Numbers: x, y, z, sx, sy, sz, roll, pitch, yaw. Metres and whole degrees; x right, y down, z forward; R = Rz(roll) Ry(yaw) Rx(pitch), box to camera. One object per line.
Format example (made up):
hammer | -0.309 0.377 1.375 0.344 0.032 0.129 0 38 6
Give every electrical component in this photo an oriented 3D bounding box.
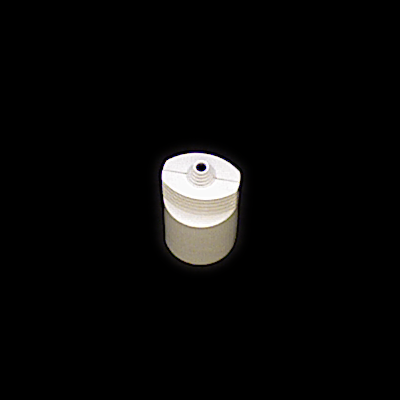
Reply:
electrical component | 0.000 0.000 0.617 0.043 0.043 0.081 0 -27 0
